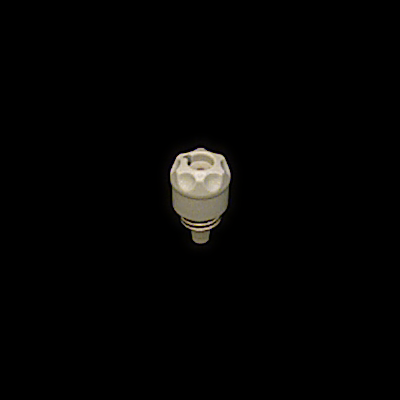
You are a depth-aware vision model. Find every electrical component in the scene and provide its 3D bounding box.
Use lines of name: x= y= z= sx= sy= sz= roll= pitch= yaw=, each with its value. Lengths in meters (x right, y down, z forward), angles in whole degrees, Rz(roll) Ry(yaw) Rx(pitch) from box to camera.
electrical component: x=0.000 y=0.000 z=0.639 sx=0.035 sy=0.062 sz=0.035 roll=0 pitch=42 yaw=0
